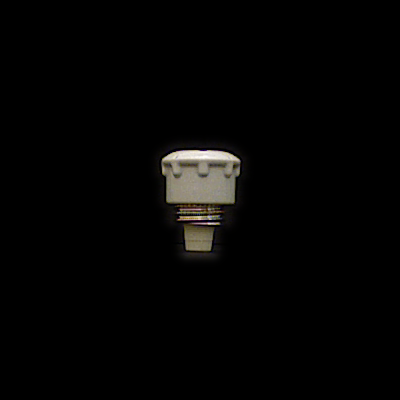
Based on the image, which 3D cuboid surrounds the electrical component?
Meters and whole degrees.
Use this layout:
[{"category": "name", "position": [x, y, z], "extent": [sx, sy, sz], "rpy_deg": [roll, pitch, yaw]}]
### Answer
[{"category": "electrical component", "position": [0.000, 0.000, 0.657], "extent": [0.048, 0.062, 0.048], "rpy_deg": [1, 2, 0]}]
